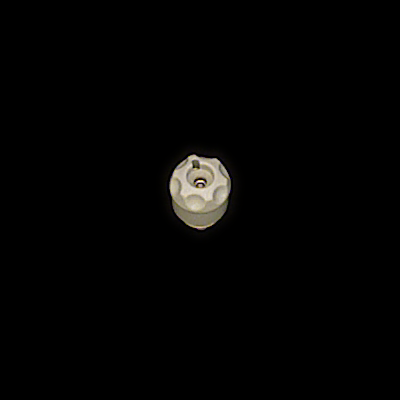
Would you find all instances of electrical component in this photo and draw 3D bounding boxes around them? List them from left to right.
[{"bbox_3d":[0.000,0.000,0.635,0.035,0.035,0.061,0,-27,0],"label":"electrical component"}]
